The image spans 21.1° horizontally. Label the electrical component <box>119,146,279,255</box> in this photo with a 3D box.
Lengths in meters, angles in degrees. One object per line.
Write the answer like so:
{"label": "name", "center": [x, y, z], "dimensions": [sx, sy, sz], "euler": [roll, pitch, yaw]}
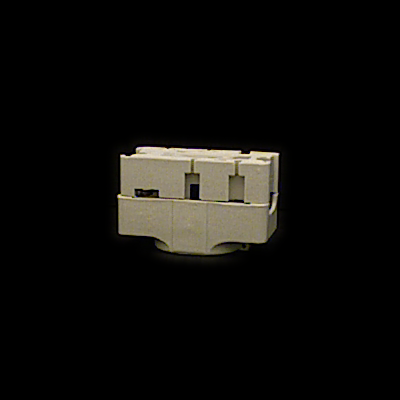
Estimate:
{"label": "electrical component", "center": [0.000, 0.000, 0.652], "dimensions": [0.089, 0.056, 0.050], "euler": [4, 11, 11]}
